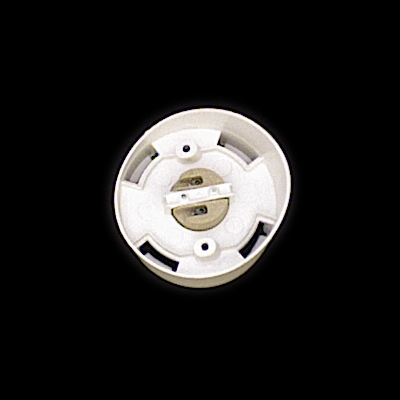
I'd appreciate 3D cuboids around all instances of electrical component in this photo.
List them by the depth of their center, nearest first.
[{"bbox_3d":[0.000,0.000,0.624,0.099,0.099,0.064,0,-18,-1],"label":"electrical component"}]
